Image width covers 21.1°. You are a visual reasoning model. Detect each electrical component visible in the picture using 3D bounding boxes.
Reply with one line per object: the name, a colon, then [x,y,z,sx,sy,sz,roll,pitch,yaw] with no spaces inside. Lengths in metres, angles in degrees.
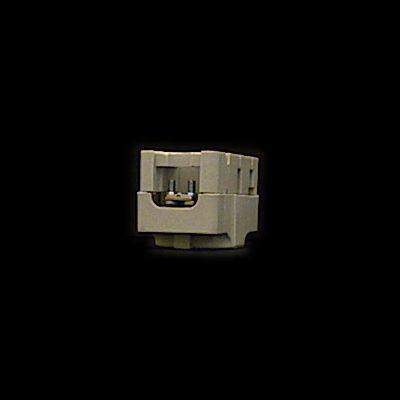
electrical component: [0.000,0.000,0.656,0.050,0.056,0.090,2,2,19]
